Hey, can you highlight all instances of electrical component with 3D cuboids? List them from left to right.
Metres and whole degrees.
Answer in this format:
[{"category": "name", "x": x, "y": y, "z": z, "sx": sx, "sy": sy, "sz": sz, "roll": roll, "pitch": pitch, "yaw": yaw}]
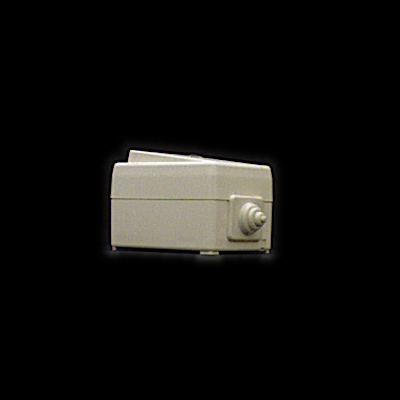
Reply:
[{"category": "electrical component", "x": 0.000, "y": 0.000, "z": 0.648, "sx": 0.096, "sy": 0.061, "sz": 0.062, "roll": 1, "pitch": 0, "yaw": 39}]
